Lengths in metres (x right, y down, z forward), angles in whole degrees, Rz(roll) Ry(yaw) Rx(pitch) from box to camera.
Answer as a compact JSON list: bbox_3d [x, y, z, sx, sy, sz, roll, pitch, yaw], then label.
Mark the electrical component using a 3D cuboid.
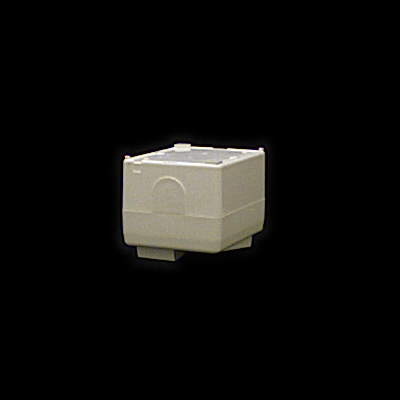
[{"bbox_3d":[0.000,0.000,0.652,0.061,0.061,0.095,5,11,22],"label":"electrical component"}]
